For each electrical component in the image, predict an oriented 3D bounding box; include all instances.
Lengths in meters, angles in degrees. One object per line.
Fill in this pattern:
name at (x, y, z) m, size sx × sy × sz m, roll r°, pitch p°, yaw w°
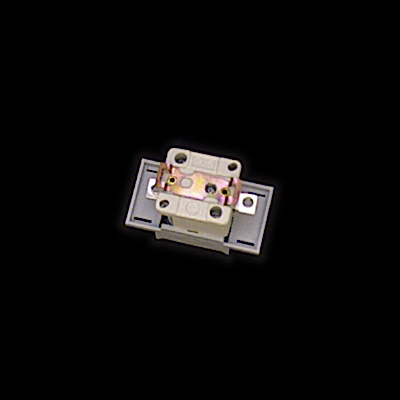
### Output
electrical component at (0.000, 0.000, 0.625) m, size 0.081 × 0.042 × 0.063 m, roll 12°, pitch -16°, yaw 3°
